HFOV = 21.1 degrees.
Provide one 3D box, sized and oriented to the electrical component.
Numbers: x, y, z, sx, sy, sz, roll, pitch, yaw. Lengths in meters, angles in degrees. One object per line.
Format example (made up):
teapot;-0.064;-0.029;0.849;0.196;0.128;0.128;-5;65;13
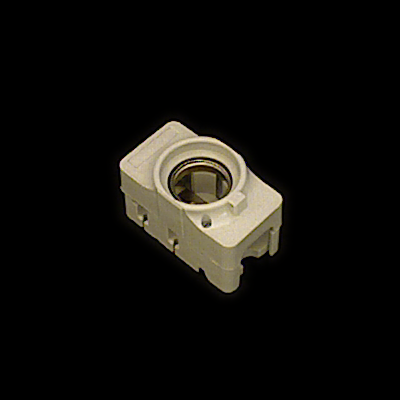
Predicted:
electrical component;0.000;0.000;0.637;0.089;0.056;0.050;36;61;24
